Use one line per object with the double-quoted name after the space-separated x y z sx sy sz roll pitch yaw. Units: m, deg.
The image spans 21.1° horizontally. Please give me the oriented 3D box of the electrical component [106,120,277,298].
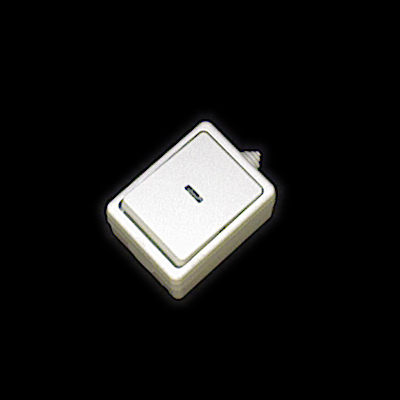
0.000 0.000 0.626 0.096 0.062 0.060 -42 -12 -12 "electrical component"
